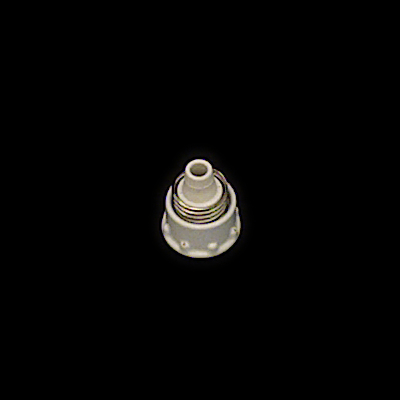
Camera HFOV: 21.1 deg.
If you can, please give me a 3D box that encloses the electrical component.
[{"bbox_3d":[0.000,0.000,0.634,0.048,0.048,0.062,0,-37,1],"label":"electrical component"}]
